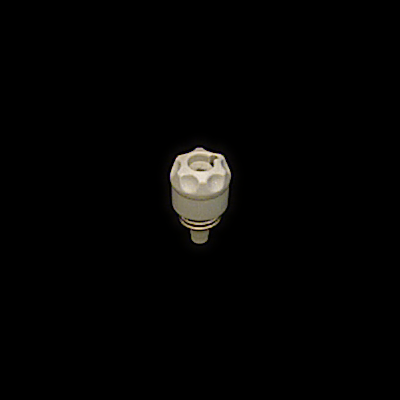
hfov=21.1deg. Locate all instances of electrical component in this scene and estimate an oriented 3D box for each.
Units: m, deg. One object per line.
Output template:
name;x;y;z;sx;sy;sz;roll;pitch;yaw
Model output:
electrical component;0.000;0.000;0.638;0.035;0.062;0.035;1;43;0
